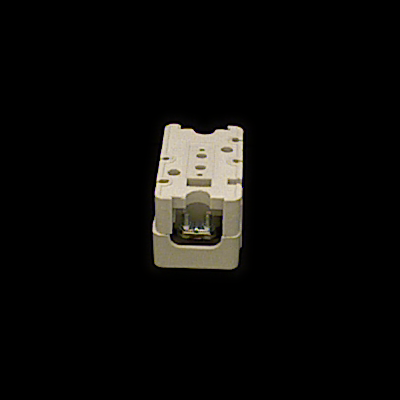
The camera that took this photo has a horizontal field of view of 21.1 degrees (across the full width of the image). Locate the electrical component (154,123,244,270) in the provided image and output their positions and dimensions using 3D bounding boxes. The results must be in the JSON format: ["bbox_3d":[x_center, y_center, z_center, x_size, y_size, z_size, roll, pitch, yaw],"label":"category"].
[{"bbox_3d":[0.000,0.000,0.643,0.050,0.056,0.088,2,33,1],"label":"electrical component"}]
